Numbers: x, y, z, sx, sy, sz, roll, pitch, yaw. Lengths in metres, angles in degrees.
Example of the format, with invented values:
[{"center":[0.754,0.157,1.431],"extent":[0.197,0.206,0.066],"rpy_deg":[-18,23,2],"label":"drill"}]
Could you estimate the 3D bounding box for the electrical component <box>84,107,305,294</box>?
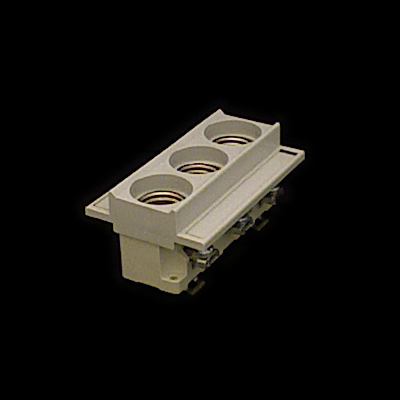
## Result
[{"center":[0.000,0.000,0.646],"extent":[0.078,0.064,0.120],"rpy_deg":[17,35,27],"label":"electrical component"}]
